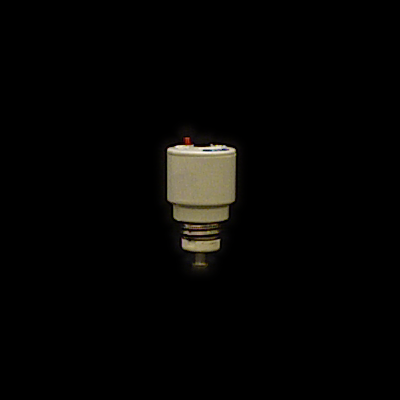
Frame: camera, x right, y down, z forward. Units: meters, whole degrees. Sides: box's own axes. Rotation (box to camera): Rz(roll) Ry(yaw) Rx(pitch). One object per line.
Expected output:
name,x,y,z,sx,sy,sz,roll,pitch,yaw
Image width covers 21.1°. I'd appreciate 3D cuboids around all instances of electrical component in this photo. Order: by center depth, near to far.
electrical component,0.000,0.000,0.645,0.040,0.079,0.040,1,11,0
